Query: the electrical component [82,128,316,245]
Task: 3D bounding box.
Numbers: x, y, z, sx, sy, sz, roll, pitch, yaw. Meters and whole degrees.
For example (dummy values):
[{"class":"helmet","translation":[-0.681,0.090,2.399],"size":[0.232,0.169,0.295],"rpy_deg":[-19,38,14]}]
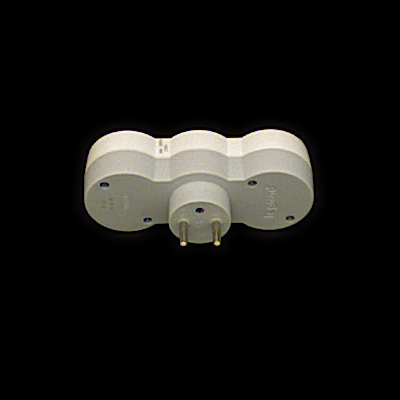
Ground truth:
[{"class":"electrical component","translation":[0.000,0.000,0.638],"size":[0.138,0.052,0.073],"rpy_deg":[0,44,-2]}]
